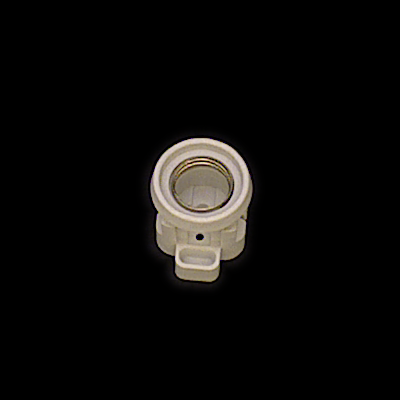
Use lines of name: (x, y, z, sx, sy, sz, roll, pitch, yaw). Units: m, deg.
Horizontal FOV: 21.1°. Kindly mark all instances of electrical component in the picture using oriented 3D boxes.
electrical component: (0.000, 0.000, 0.629, 0.058, 0.078, 0.057, 5, -27, 3)
